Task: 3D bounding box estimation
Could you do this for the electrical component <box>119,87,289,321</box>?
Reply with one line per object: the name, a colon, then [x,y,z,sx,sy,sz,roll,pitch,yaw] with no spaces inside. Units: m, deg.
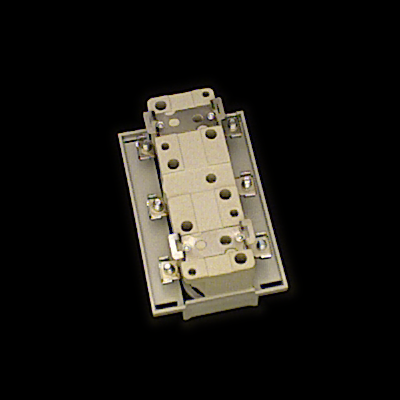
electrical component: [0.000,0.000,0.633,0.079,0.121,0.063,-11,-26,-5]
